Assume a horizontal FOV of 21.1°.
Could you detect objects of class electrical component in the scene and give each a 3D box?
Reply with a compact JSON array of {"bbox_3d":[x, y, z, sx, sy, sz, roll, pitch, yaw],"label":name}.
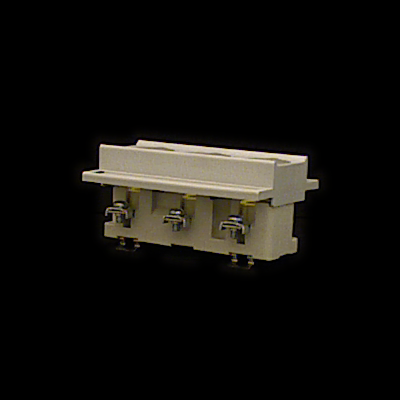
[{"bbox_3d":[0.000,0.000,0.659,0.120,0.063,0.078,7,11,30],"label":"electrical component"}]
